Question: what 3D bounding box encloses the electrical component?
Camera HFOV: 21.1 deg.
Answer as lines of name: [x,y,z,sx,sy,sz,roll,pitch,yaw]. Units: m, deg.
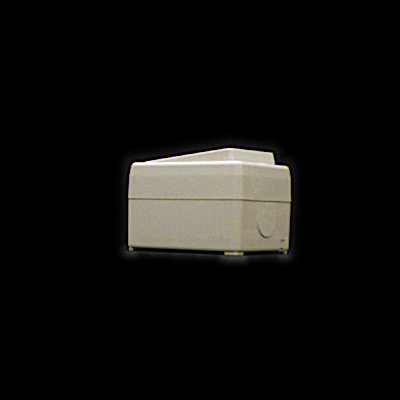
electrical component: [0.000,0.000,0.652,0.096,0.061,0.062,1,0,34]
